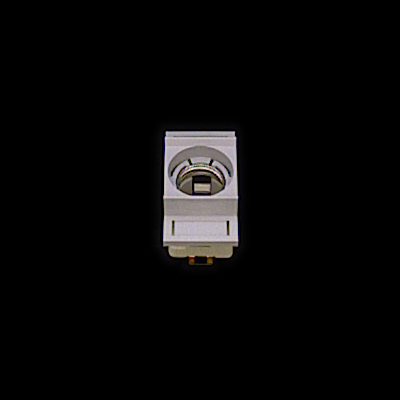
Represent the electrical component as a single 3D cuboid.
[{"bbox_3d":[0.000,0.000,0.628,0.042,0.080,0.064,0,-37,1],"label":"electrical component"}]
